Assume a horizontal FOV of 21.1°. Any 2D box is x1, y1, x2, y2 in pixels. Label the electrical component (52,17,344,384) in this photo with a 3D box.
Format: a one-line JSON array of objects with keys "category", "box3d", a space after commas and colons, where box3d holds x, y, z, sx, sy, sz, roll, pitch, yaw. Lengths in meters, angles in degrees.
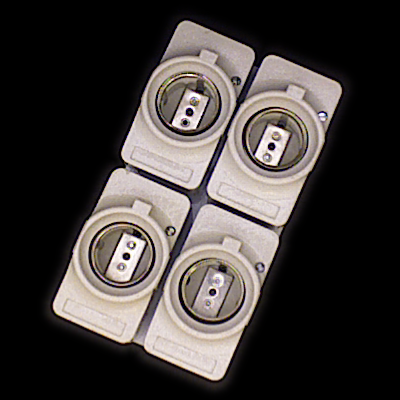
[{"category": "electrical component", "box3d": [0.000, 0.000, 0.626, 0.105, 0.187, 0.060, 23, -7, 3]}]
